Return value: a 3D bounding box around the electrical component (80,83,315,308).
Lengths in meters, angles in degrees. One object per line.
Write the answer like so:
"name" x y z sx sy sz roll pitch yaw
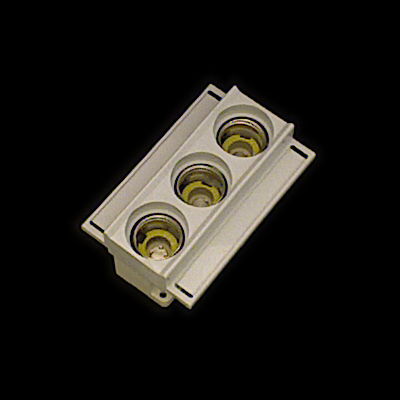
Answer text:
"electrical component" 0.000 0.000 0.637 0.078 0.121 0.063 35 -21 15
